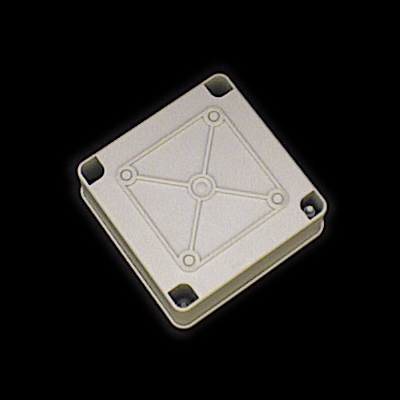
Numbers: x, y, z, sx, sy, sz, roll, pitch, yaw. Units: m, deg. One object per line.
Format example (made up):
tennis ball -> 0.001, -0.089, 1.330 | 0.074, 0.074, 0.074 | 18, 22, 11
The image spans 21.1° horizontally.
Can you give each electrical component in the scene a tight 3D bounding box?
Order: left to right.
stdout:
electrical component -> 0.000, 0.000, 0.628 | 0.109, 0.109, 0.056 | -34, -14, -10
